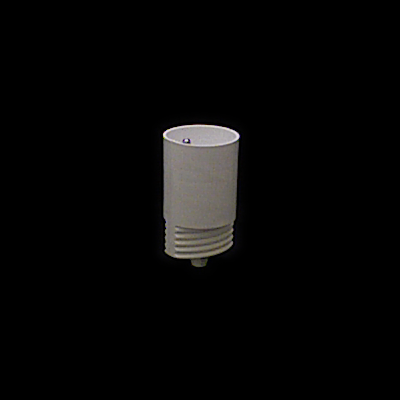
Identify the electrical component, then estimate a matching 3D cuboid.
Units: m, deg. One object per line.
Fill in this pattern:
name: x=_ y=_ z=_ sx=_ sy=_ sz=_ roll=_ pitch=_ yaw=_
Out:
electrical component: x=0.000 y=0.000 z=0.632 sx=0.043 sy=0.082 sz=0.042 roll=0 pitch=21 yaw=0
